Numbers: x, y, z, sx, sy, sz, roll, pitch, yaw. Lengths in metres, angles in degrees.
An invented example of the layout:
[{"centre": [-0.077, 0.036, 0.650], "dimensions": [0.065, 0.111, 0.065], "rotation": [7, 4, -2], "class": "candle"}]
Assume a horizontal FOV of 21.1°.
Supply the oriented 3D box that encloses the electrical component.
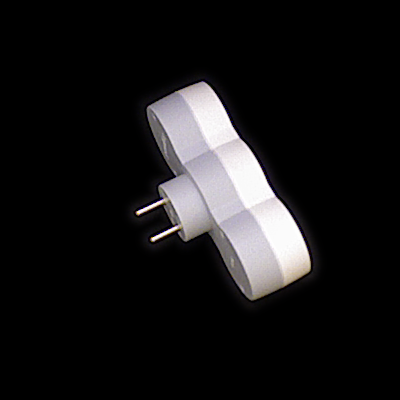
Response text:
[{"centre": [0.000, 0.000, 0.629], "dimensions": [0.074, 0.138, 0.052], "rotation": [-26, -23, -11], "class": "electrical component"}]
